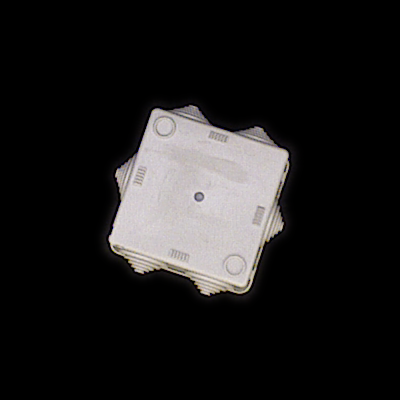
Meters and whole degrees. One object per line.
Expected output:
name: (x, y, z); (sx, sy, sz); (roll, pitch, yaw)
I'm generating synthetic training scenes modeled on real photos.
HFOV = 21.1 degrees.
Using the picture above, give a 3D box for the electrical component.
electrical component: (0.000, 0.000, 0.632); (0.100, 0.100, 0.048); (18, -6, 2)
